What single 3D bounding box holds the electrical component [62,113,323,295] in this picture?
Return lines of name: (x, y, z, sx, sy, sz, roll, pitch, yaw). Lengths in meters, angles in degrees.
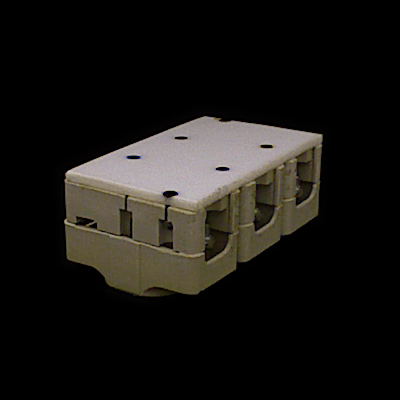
electrical component: (0.000, 0.000, 0.642, 0.089, 0.063, 0.148, 13, 24, 30)
